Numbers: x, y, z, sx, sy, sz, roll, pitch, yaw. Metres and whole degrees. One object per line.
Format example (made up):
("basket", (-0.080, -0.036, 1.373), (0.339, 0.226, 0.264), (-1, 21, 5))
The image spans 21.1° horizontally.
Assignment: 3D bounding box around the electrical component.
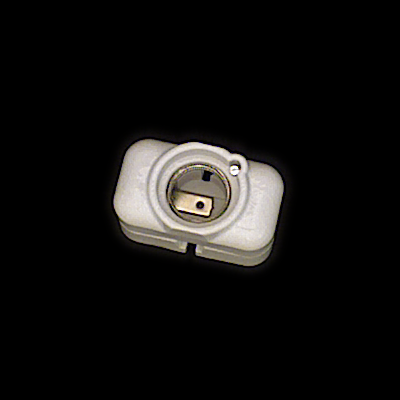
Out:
("electrical component", (0.000, 0.000, 0.634), (0.095, 0.054, 0.059), (12, -15, 3))
